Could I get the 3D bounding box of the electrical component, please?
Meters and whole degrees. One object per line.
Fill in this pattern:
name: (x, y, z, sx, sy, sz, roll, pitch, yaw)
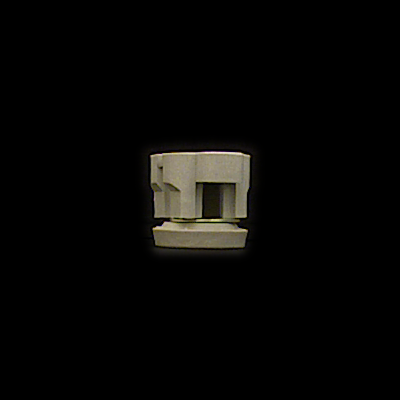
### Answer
electrical component: (0.000, 0.000, 0.657, 0.058, 0.057, 0.078, 0, 0, -25)
